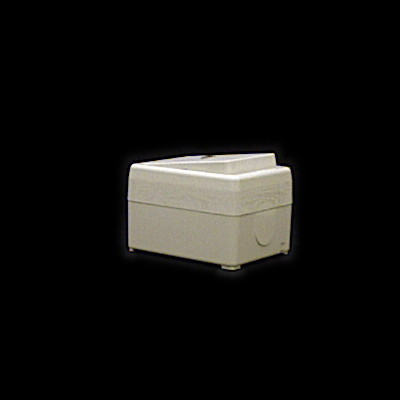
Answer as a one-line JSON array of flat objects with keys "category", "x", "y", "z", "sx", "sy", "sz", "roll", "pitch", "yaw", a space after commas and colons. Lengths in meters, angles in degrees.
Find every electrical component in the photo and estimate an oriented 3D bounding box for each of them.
[{"category": "electrical component", "x": 0.000, "y": 0.000, "z": 0.646, "sx": 0.095, "sy": 0.061, "sz": 0.061, "roll": 9, "pitch": 13, "yaw": 36}]
